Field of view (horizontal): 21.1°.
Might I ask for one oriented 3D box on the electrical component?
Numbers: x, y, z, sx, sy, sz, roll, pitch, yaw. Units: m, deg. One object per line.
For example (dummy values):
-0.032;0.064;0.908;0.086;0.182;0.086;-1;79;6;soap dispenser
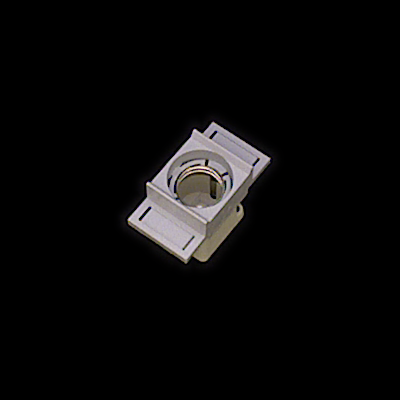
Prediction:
0.000;0.000;0.623;0.042;0.081;0.063;34;-23;15;electrical component
